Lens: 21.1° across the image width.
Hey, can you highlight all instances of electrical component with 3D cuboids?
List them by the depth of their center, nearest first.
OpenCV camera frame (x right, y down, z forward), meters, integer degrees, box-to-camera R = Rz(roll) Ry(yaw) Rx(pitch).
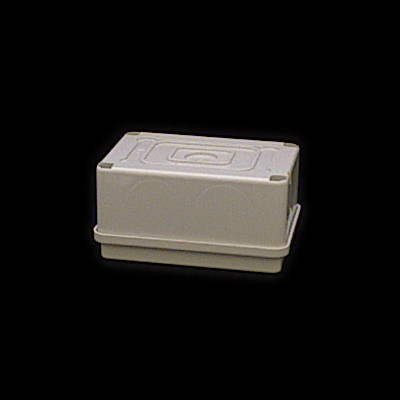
[{"bbox_3d":[0.000,0.000,0.639,0.113,0.058,0.077,4,21,10],"label":"electrical component"}]
